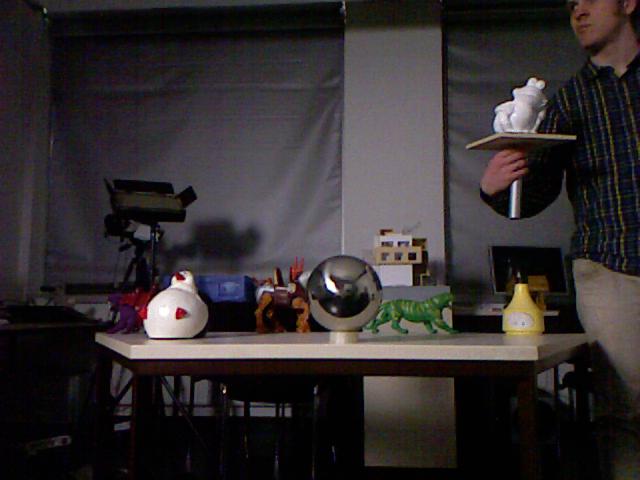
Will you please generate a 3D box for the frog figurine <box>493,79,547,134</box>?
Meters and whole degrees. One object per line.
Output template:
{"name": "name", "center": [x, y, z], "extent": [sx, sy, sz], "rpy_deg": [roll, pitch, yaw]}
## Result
{"name": "frog figurine", "center": [0.543, -0.353, 1.396], "extent": [0.137, 0.158, 0.123], "rpy_deg": [3, 8, 2]}
